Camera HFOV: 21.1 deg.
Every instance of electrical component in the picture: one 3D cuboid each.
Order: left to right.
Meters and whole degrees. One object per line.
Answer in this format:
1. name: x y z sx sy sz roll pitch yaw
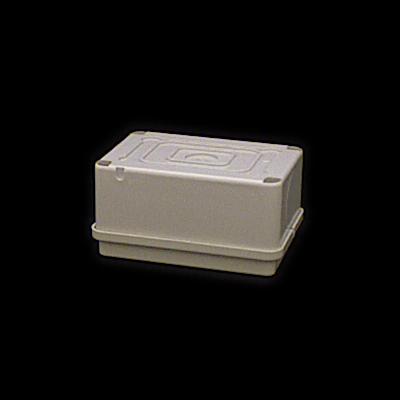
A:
1. electrical component: 0.000 0.000 0.639 0.113 0.058 0.077 7 22 14
